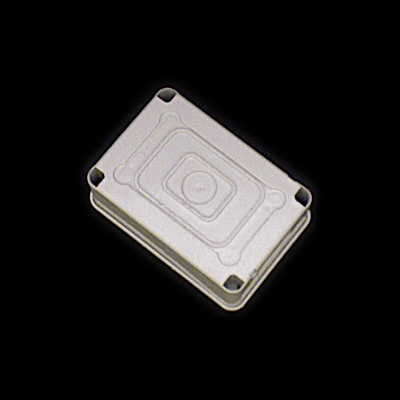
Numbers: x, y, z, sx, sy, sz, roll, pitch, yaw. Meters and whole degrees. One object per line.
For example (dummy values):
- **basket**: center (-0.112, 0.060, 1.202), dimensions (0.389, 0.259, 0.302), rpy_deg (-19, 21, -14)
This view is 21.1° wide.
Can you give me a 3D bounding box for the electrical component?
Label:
- **electrical component**: center (0.000, 0.000, 0.627), dimensions (0.113, 0.078, 0.057), rpy_deg (37, -13, 11)
